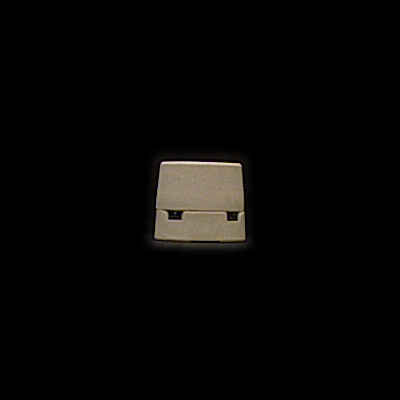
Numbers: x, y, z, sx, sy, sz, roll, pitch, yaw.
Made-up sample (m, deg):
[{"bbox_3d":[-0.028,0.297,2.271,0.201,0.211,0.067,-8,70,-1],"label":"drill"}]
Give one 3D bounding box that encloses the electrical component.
[{"bbox_3d":[0.000,0.000,0.649,0.055,0.047,0.055,1,2,0],"label":"electrical component"}]
